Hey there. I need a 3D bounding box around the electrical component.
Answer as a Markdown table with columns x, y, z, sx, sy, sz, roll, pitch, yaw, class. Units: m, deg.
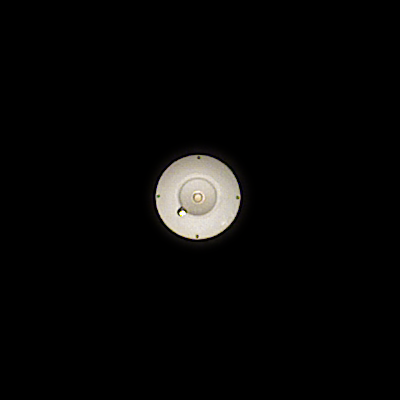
| x | y | z | sx | sy | sz | roll | pitch | yaw | class |
| --- | --- | --- | --- | --- | --- | --- | --- | --- | --- |
| 0.000 | 0.000 | 0.634 | 0.048 | 0.048 | 0.061 | 0 | -6 | 1 | electrical component |
